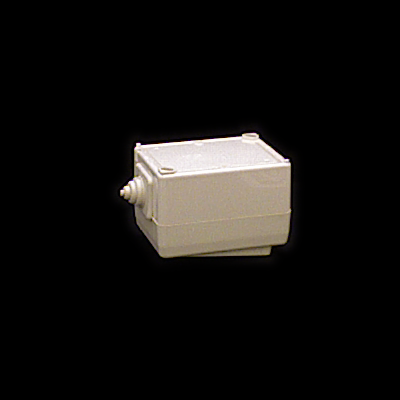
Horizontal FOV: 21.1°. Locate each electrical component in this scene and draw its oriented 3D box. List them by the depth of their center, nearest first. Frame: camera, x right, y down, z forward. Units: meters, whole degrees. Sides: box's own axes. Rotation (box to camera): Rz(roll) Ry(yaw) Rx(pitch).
[{"bbox_3d":[0.000,0.000,0.641,0.096,0.061,0.061,-6,22,-17],"label":"electrical component"}]
